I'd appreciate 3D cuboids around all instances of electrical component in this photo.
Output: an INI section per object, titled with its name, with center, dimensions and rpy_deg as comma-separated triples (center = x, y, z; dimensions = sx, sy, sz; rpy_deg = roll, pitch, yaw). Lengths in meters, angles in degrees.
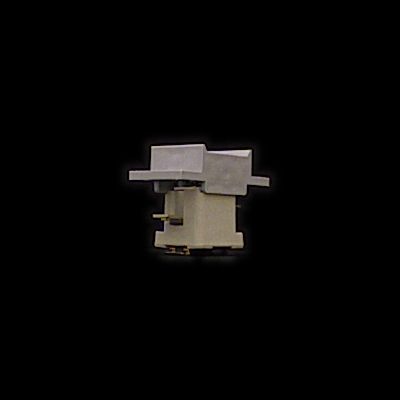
[electrical component]
center = 0.000, 0.000, 0.647
dimensions = 0.042, 0.064, 0.081
rpy_deg = 4, 1, 42
